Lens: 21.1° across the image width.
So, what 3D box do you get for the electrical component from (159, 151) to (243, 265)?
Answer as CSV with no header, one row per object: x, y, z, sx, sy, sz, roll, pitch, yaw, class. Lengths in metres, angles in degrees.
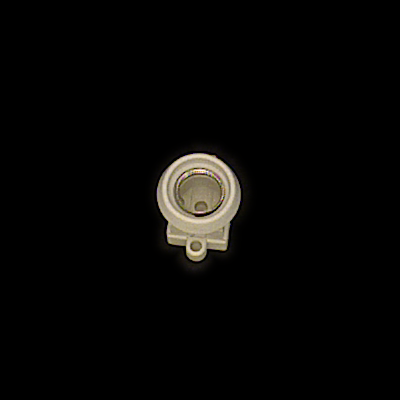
0.000,0.000,0.637,0.048,0.067,0.055,6,-16,0,electrical component
